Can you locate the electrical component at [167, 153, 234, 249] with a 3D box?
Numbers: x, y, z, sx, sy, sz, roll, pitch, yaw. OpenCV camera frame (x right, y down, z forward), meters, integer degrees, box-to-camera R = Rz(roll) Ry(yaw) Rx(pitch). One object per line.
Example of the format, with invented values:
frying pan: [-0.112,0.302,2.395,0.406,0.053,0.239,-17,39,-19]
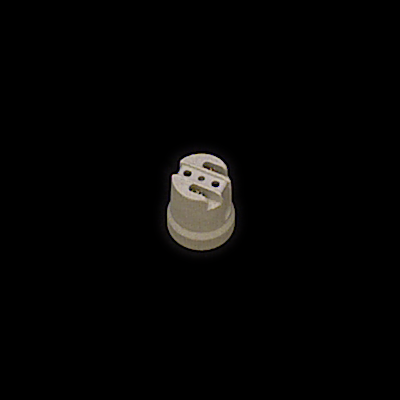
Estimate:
electrical component: [0.000,0.000,0.633,0.040,0.040,0.046,0,-37,0]
